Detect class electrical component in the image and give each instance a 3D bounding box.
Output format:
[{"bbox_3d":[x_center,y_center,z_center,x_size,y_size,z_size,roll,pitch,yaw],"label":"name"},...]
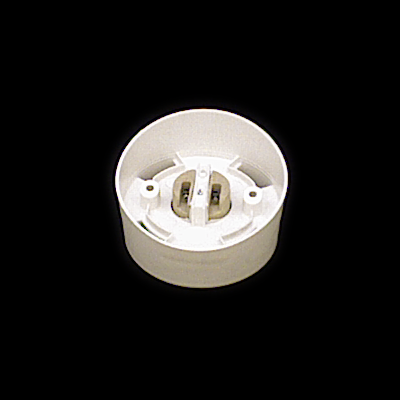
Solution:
[{"bbox_3d":[0.000,0.000,0.629,0.099,0.065,0.097,0,41,0],"label":"electrical component"}]
